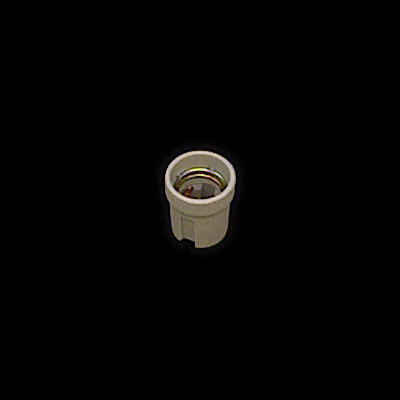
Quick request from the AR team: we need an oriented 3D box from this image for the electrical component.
[{"bbox_3d":[0.000,0.000,0.632,0.040,0.039,0.047,0,-38,-1],"label":"electrical component"}]
